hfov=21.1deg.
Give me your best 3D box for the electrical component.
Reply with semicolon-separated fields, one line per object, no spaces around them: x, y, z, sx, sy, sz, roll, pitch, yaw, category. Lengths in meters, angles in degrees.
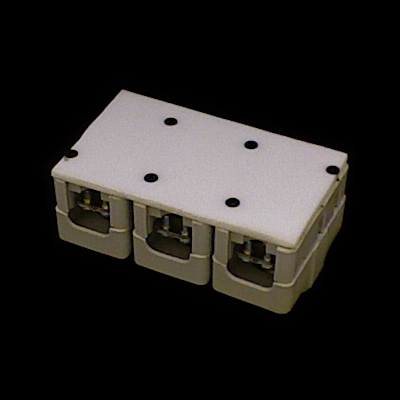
0.000;0.000;0.637;0.149;0.063;0.088;18;45;18;electrical component
